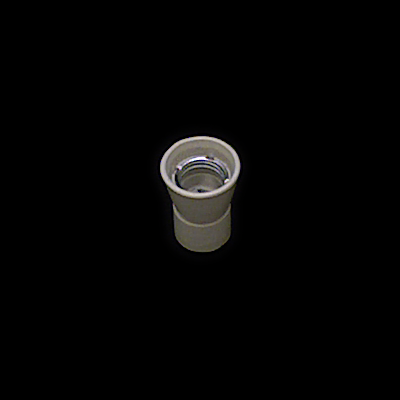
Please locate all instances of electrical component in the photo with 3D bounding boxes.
[{"bbox_3d":[0.000,0.000,0.626,0.044,0.044,0.065,0,-38,1],"label":"electrical component"}]
